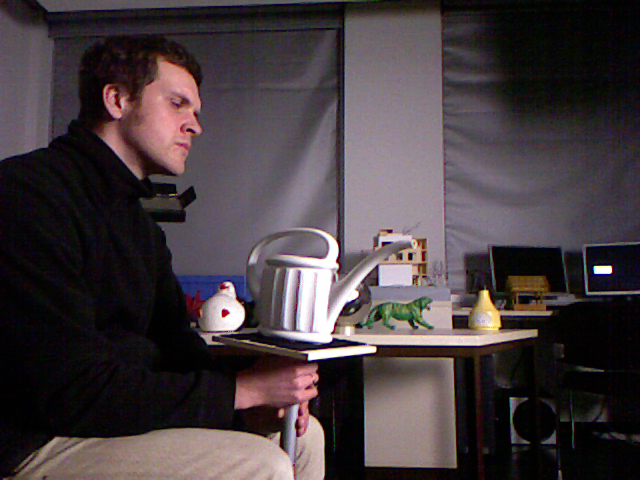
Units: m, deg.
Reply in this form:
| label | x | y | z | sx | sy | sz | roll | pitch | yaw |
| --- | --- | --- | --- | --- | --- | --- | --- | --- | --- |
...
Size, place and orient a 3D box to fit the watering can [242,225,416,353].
| label | x | y | z | sx | sy | sz | roll | pitch | yaw |
| --- | --- | --- | --- | --- | --- | --- | --- | --- | --- |
| watering can | -0.004 | 0.087 | 0.858 | 0.347 | 0.225 | 0.104 | 1 | -1 | 37 |
